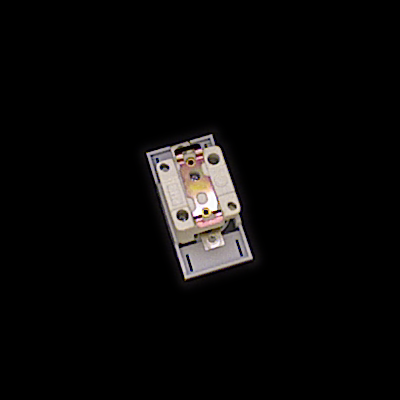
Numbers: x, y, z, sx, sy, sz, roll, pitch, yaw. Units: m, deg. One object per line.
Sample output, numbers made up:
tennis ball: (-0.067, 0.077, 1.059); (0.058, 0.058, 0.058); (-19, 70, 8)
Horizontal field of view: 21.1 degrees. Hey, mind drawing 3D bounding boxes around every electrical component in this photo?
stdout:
electrical component: (0.000, 0.000, 0.625); (0.042, 0.081, 0.063); (-17, -16, -5)
